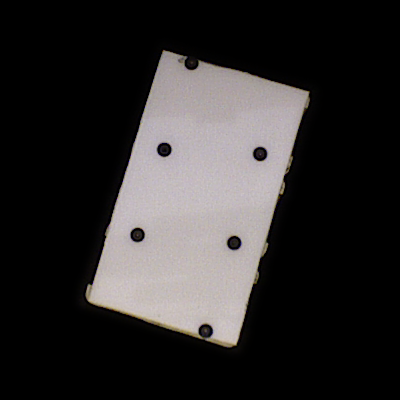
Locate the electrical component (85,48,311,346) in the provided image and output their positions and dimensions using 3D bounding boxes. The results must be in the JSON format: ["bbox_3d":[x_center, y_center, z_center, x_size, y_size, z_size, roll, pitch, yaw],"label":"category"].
[{"bbox_3d":[0.000,0.000,0.630,0.089,0.150,0.061,17,-6,2],"label":"electrical component"}]
